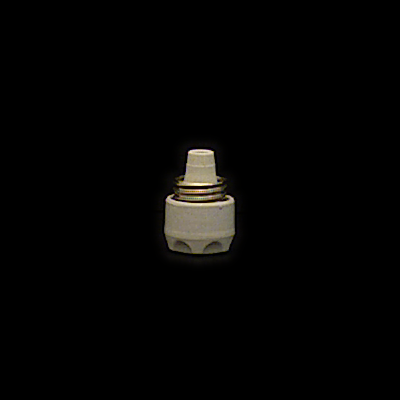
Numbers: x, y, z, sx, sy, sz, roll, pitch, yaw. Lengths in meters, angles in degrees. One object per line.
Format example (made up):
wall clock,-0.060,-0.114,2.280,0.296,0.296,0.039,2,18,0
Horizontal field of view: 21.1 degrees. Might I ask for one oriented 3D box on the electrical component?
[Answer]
electrical component,0.000,0.000,0.650,0.043,0.062,0.043,1,13,0
